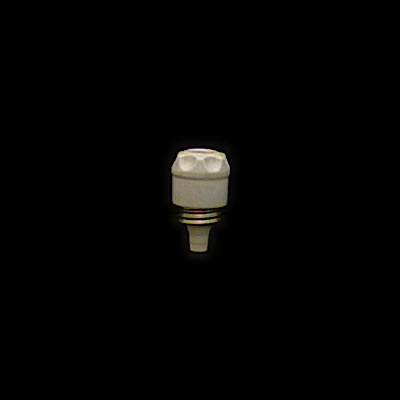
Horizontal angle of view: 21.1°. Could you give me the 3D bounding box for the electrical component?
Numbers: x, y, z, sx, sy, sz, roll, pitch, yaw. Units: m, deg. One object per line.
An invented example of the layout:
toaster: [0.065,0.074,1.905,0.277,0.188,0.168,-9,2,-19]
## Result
electrical component: [0.000,0.000,0.651,0.035,0.062,0.035,1,12,0]
